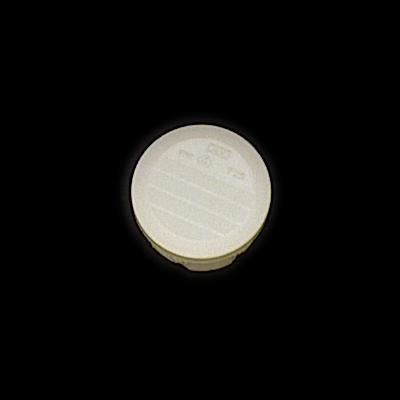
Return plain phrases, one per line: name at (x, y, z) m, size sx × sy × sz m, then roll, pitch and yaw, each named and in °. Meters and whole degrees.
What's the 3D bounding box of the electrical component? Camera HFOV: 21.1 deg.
electrical component at (0.000, 0.000, 0.629) m, size 0.080 × 0.080 × 0.050 m, roll 0°, pitch -17°, yaw 0°
